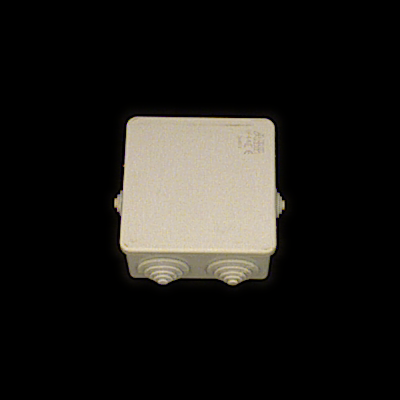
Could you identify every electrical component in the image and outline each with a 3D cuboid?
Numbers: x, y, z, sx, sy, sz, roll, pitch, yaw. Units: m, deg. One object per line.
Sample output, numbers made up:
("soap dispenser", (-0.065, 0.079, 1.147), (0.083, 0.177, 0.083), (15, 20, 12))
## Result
("electrical component", (0.000, 0.000, 0.640), (0.100, 0.100, 0.048), (1, -27, 0))
